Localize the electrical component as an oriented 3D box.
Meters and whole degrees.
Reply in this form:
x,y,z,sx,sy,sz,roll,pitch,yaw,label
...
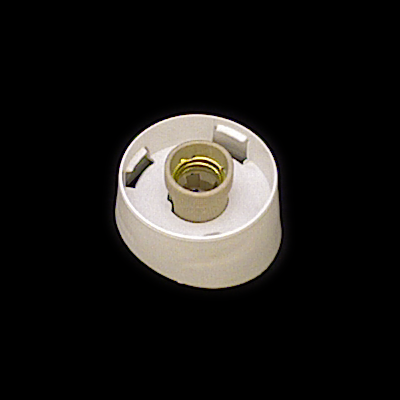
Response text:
x,y,z,sx,sy,sz,roll,pitch,yaw,label
0.000,0.000,0.626,0.099,0.098,0.064,0,-38,-1,electrical component
